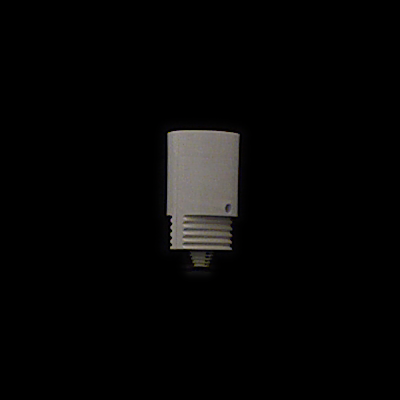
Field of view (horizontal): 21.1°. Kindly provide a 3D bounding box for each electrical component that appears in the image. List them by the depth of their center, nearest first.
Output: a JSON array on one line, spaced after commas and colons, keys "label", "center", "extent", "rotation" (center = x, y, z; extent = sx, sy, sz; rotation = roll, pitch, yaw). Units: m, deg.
[{"label": "electrical component", "center": [0.000, 0.000, 0.653], "extent": [0.043, 0.081, 0.043], "rotation": [2, 1, 0]}]
